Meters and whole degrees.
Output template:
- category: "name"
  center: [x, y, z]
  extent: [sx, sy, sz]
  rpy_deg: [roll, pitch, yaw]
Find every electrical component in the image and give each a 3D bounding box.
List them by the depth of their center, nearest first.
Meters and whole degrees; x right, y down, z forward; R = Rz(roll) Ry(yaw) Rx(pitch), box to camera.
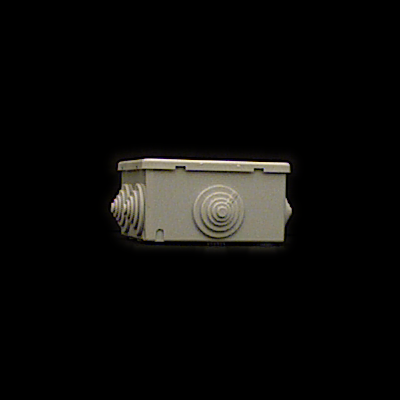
- category: "electrical component"
  center: [0.000, 0.000, 0.656]
  extent: [0.100, 0.048, 0.099]
  rpy_deg: [1, 1, -15]
